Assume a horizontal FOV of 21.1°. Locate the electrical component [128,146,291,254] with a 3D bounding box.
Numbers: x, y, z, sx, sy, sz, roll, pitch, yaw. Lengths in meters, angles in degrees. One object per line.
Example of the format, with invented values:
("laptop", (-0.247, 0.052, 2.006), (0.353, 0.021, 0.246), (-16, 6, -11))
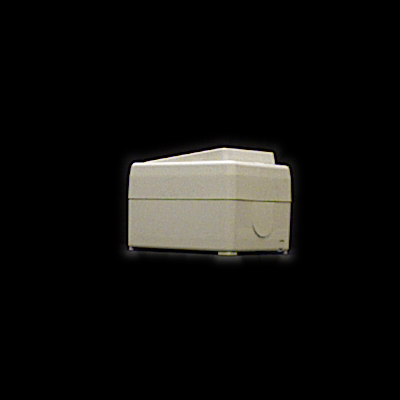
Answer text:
("electrical component", (0.000, 0.000, 0.652), (0.096, 0.061, 0.062), (1, 0, 39))
